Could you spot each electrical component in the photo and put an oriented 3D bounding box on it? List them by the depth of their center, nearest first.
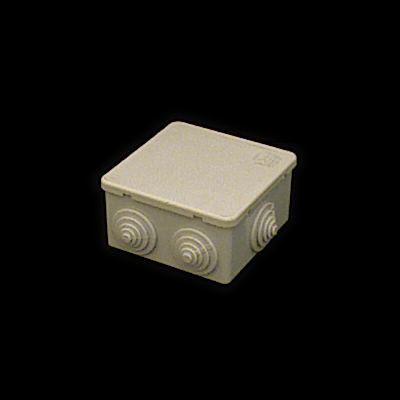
[{"bbox_3d":[0.000,0.000,0.646,0.099,0.049,0.099,17,36,24],"label":"electrical component"}]
